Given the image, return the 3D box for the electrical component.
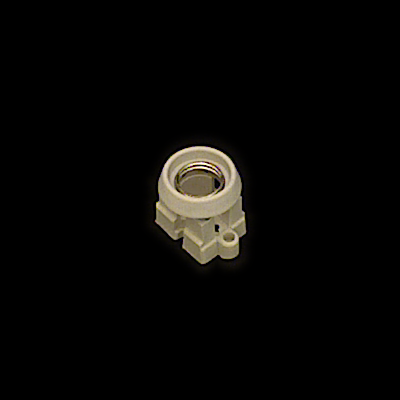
[{"bbox_3d":[0.000,0.000,0.638,0.049,0.055,0.066,-37,61,-26],"label":"electrical component"}]
